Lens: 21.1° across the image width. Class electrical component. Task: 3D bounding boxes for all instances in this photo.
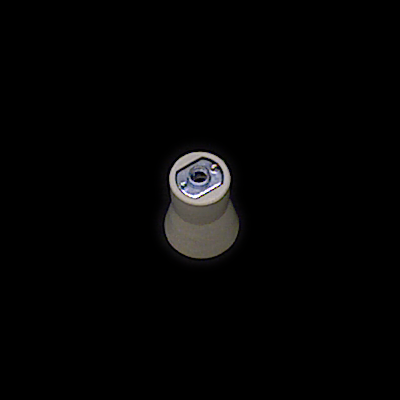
[{"bbox_3d":[0.000,0.000,0.626,0.044,0.044,0.065,0,-28,1],"label":"electrical component"}]
